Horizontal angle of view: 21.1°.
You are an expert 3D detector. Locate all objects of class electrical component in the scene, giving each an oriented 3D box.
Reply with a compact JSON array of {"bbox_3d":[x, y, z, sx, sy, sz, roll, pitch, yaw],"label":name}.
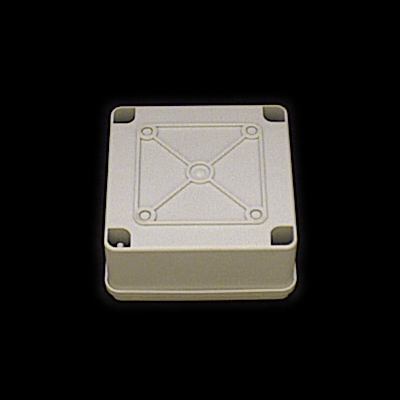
[{"bbox_3d":[0.000,0.000,0.627,0.109,0.108,0.056,-1,-37,0],"label":"electrical component"}]
